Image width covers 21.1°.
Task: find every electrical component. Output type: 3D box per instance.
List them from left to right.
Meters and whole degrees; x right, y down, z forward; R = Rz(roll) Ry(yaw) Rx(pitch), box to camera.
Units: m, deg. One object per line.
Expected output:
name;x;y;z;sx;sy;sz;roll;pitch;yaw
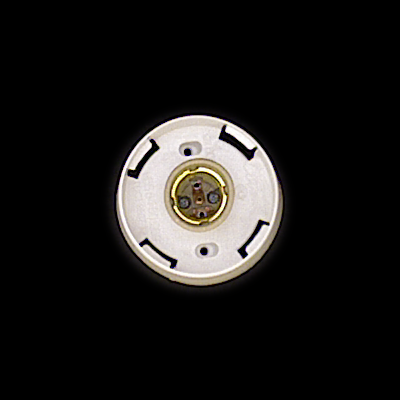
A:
electrical component;0.000;0.000;0.625;0.099;0.099;0.064;0;-7;0
